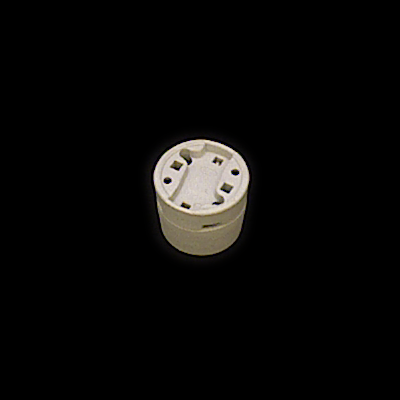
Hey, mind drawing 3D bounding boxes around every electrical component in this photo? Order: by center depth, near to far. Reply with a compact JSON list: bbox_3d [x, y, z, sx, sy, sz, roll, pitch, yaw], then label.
[{"bbox_3d":[0.000,0.000,0.634,0.055,0.055,0.047,0,-38,0],"label":"electrical component"}]
